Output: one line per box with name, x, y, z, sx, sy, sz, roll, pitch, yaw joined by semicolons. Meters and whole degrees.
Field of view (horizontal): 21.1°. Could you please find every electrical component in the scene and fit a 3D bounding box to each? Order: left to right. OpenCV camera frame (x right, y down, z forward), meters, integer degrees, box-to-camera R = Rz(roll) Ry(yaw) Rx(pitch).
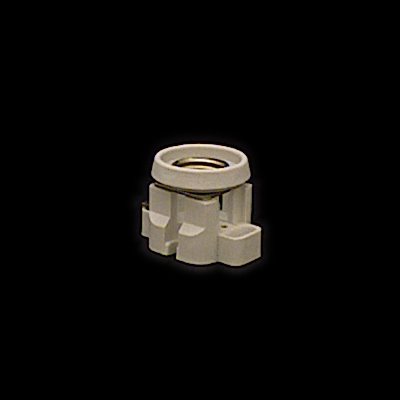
electrical component;0.000;0.000;0.639;0.077;0.057;0.058;17;27;36
